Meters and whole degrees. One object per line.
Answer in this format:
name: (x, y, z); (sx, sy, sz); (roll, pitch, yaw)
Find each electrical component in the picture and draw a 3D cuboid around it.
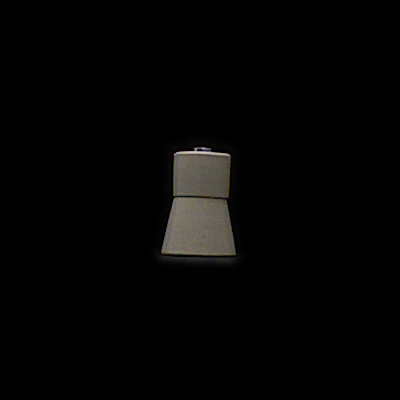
electrical component: (0.000, 0.000, 0.649); (0.044, 0.065, 0.044); (2, 1, 0)
